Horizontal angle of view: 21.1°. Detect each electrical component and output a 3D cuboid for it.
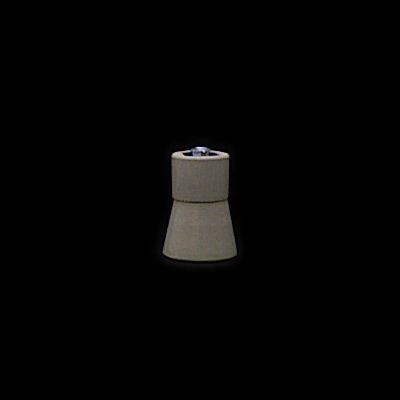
[{"bbox_3d":[0.000,0.000,0.644,0.044,0.066,0.044,0,12,0],"label":"electrical component"}]
